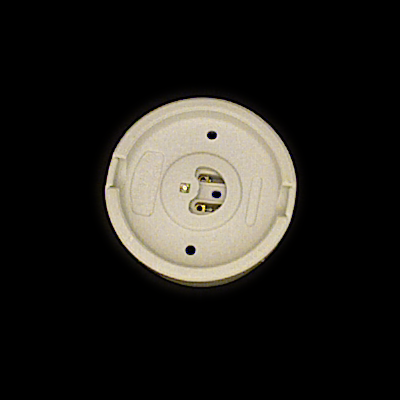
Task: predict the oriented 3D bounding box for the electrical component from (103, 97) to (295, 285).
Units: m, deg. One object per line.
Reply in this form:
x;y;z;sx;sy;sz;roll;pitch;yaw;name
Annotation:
0.000;0.000;0.633;0.108;0.108;0.060;0;-16;0;electrical component
